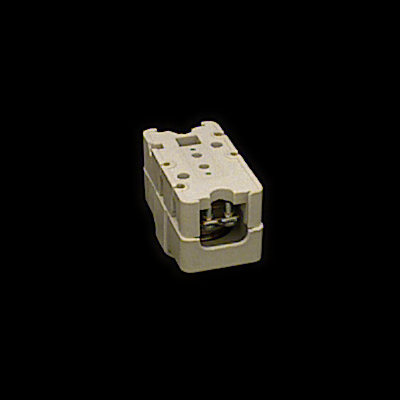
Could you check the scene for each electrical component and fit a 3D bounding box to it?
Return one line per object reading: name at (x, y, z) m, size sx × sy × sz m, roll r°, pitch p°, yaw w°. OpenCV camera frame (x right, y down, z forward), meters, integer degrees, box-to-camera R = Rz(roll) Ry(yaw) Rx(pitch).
electrical component at (0.000, 0.000, 0.642) m, size 0.050 × 0.056 × 0.088 m, roll -10°, pitch 33°, yaw -15°
